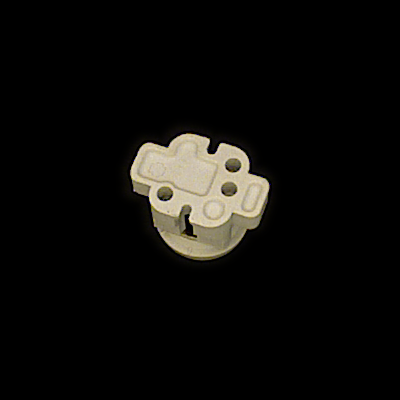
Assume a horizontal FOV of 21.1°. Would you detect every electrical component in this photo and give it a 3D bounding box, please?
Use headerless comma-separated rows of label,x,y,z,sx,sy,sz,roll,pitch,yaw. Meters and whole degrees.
electrical component,0.000,0.000,0.635,0.078,0.058,0.057,17,-24,10
